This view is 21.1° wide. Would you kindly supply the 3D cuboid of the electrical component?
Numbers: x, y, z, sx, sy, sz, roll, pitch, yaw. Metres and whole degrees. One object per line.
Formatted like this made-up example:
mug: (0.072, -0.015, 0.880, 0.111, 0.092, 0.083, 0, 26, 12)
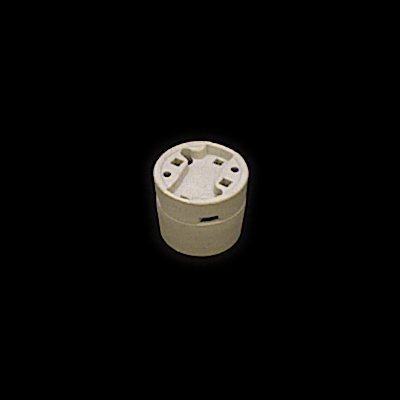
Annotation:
electrical component: (0.000, 0.000, 0.635, 0.055, 0.047, 0.055, 0, 42, 0)
